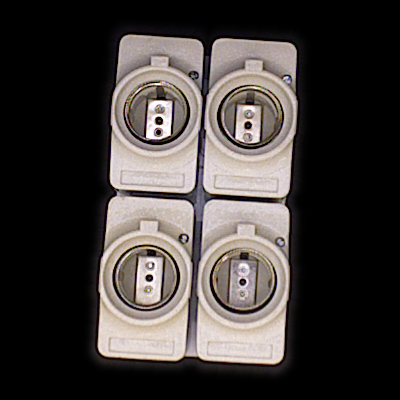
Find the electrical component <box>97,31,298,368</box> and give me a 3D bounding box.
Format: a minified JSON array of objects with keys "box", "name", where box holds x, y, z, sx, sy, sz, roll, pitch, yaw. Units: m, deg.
[{"box":[0.000,0.000,0.626,0.105,0.187,0.060,3,-7,0],"name":"electrical component"}]
